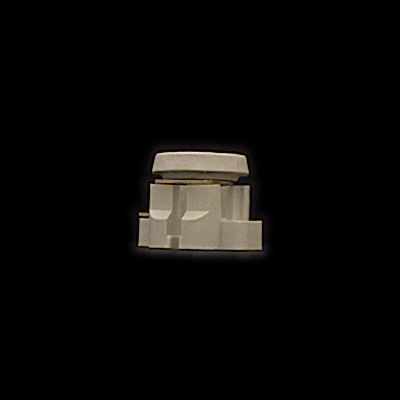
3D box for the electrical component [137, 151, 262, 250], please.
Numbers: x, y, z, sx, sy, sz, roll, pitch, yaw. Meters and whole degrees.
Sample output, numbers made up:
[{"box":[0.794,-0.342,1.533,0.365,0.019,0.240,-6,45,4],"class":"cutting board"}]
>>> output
[{"box":[0.000,0.000,0.649,0.078,0.057,0.058,2,1,34],"class":"electrical component"}]
